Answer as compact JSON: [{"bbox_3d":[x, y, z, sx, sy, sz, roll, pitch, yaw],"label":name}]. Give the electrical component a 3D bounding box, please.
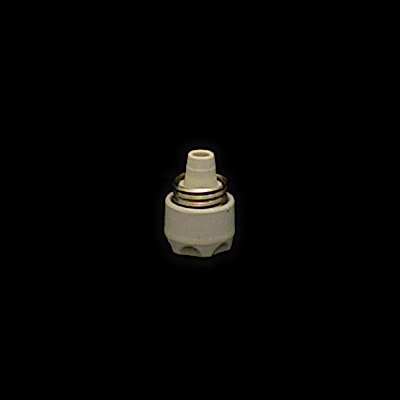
[{"bbox_3d":[0.000,0.000,0.645,0.043,0.063,0.043,1,23,0],"label":"electrical component"}]
